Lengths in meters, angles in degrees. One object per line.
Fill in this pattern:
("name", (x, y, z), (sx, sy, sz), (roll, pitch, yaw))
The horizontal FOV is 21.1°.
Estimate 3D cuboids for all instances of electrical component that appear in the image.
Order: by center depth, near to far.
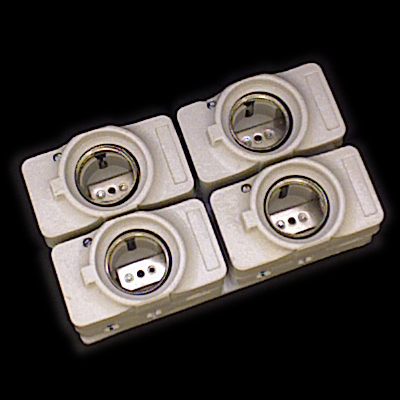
("electrical component", (0.000, 0.000, 0.625), (0.186, 0.106, 0.060), (-19, -16, -5))
